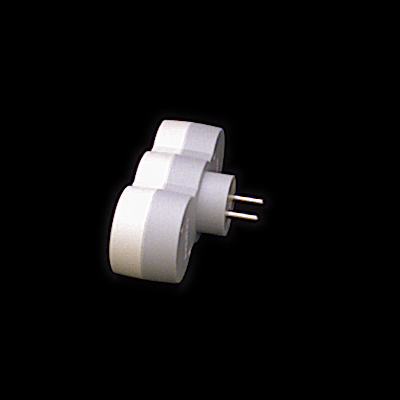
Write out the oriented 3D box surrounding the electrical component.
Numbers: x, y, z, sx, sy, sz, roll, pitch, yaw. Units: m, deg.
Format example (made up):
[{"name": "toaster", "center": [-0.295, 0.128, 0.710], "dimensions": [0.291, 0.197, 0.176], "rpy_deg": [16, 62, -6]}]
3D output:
[{"name": "electrical component", "center": [0.000, 0.000, 0.639], "dimensions": [0.073, 0.053, 0.137], "rpy_deg": [9, 31, 9]}]
